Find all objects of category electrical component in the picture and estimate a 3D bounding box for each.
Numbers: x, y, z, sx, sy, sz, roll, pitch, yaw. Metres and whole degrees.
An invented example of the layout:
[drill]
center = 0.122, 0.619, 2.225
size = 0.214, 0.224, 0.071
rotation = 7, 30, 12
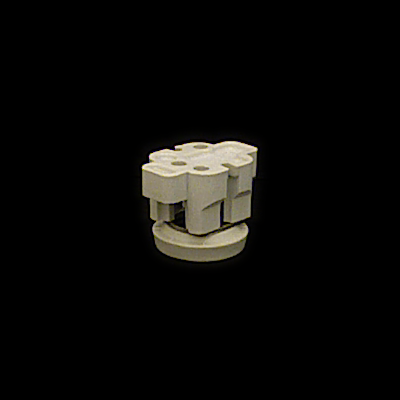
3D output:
[electrical component]
center = 0.000, 0.000, 0.648
size = 0.057, 0.057, 0.079
rotation = 19, 26, 39
